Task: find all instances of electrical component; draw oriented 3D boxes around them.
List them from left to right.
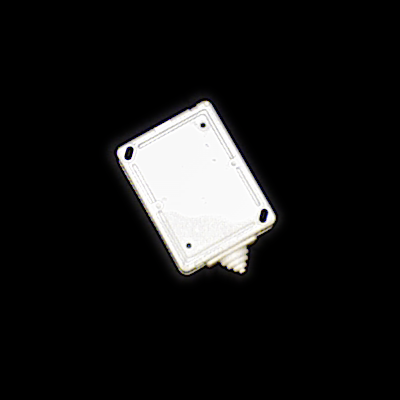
[{"bbox_3d":[0.000,0.000,0.626,0.062,0.096,0.060,-29,-6,-3],"label":"electrical component"}]
